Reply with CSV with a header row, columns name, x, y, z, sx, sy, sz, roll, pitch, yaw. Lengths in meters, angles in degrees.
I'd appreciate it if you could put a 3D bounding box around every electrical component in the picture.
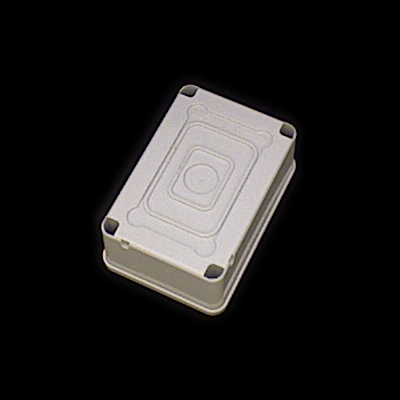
name,x,y,z,sx,sy,sz,roll,pitch,yaw
electrical component,0.000,0.000,0.628,0.078,0.113,0.057,23,-25,12
